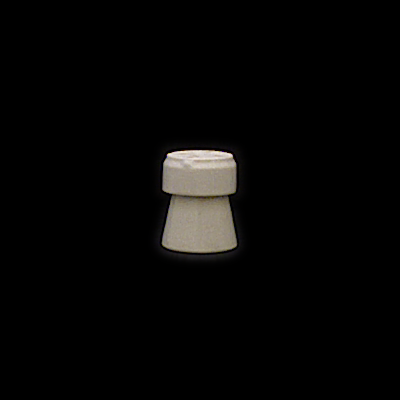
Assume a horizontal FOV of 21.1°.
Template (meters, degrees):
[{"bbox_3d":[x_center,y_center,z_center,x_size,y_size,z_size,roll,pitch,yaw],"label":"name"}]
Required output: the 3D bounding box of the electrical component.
[{"bbox_3d":[0.000,0.000,0.645,0.045,0.055,0.044,1,11,0],"label":"electrical component"}]
